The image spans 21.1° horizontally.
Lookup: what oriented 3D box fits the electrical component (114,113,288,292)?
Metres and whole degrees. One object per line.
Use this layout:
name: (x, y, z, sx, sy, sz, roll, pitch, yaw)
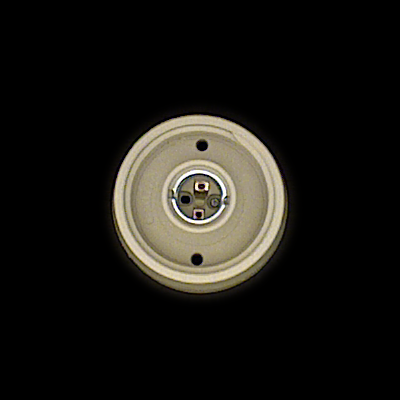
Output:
electrical component: (0.000, 0.000, 0.635, 0.108, 0.108, 0.060, 0, -6, 0)
